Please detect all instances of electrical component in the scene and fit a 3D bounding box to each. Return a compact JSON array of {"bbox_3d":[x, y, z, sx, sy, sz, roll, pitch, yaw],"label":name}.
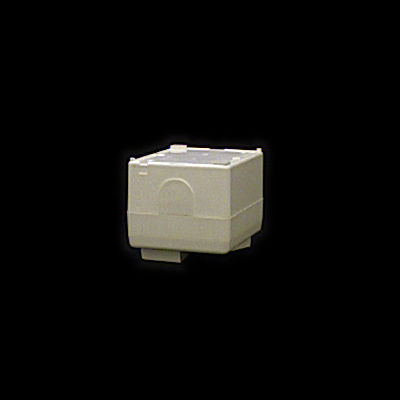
[{"bbox_3d":[0.001,0.000,0.652,0.061,0.061,0.095,4,11,17],"label":"electrical component"}]
